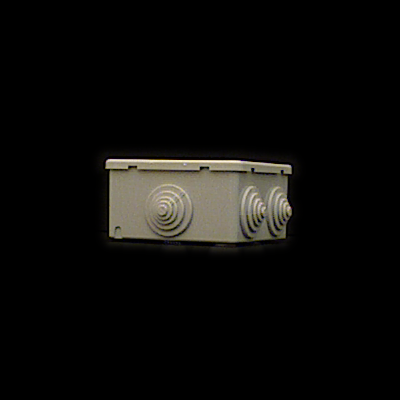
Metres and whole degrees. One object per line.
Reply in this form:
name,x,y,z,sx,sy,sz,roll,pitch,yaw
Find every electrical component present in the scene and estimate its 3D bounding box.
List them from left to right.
electrical component,0.000,0.000,0.658,0.099,0.048,0.100,2,1,25
